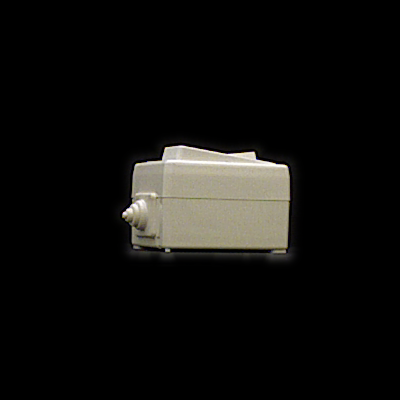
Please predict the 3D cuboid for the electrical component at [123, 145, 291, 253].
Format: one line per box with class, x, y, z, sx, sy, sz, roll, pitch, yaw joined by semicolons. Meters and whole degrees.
electrical component;0.000;0.000;0.648;0.096;0.061;0.061;2;0;-23
